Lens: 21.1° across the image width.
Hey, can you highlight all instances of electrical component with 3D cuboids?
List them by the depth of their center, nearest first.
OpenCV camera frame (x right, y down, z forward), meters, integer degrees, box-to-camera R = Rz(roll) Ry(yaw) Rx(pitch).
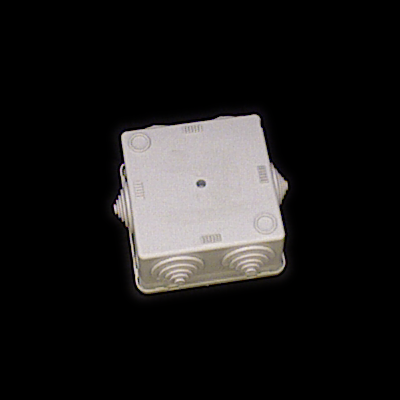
[{"bbox_3d":[0.000,0.000,0.631,0.100,0.099,0.048,-8,-26,-4],"label":"electrical component"}]
